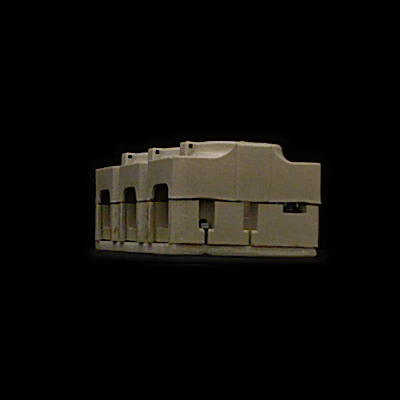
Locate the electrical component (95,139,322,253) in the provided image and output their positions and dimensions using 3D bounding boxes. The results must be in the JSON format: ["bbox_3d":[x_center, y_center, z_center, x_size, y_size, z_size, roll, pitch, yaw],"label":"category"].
[{"bbox_3d":[0.000,0.000,0.655,0.090,0.062,0.150,1,-1,-23],"label":"electrical component"}]
